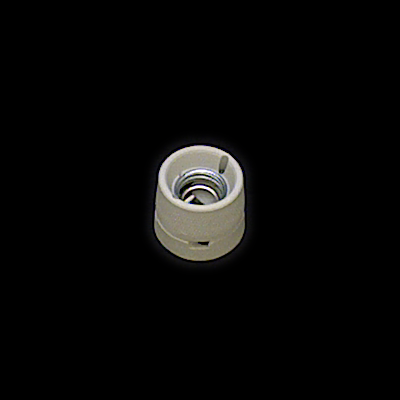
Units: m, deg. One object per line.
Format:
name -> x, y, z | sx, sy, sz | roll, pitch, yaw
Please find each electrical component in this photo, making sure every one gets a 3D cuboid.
electrical component -> 0.000, 0.000, 0.635 | 0.055, 0.055, 0.047 | 0, -38, -2
